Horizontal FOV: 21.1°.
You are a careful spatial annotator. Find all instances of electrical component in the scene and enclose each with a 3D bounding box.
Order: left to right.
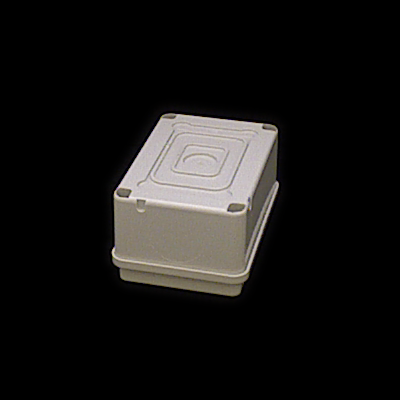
[{"bbox_3d":[0.000,0.000,0.635,0.078,0.058,0.112,8,31,11],"label":"electrical component"}]
